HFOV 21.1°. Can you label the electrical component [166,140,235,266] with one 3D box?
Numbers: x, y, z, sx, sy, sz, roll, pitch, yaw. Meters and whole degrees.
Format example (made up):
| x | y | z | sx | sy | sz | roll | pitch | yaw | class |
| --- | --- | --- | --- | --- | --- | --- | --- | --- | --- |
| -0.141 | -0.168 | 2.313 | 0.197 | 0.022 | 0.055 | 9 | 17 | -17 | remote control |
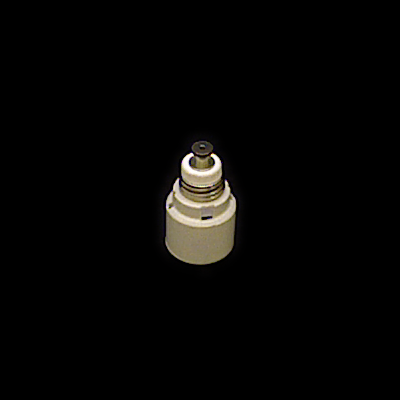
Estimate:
| x | y | z | sx | sy | sz | roll | pitch | yaw | class |
| --- | --- | --- | --- | --- | --- | --- | --- | --- | --- |
| 0.000 | 0.000 | 0.624 | 0.040 | 0.079 | 0.039 | 1 | 41 | -1 | electrical component |
